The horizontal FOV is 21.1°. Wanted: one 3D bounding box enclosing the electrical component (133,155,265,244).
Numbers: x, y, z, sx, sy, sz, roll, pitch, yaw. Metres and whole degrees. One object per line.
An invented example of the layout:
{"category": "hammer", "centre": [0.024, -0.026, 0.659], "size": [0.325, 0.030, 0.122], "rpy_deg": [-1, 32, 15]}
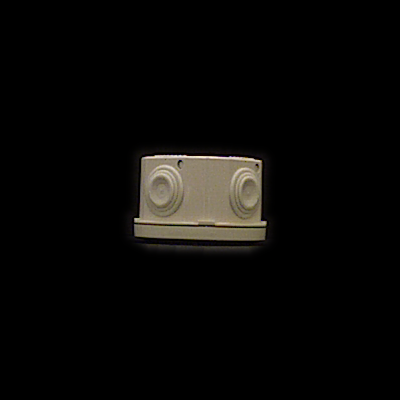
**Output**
{"category": "electrical component", "centre": [0.000, 0.000, 0.651], "size": [0.080, 0.051, 0.080], "rpy_deg": [2, 0, 0]}
